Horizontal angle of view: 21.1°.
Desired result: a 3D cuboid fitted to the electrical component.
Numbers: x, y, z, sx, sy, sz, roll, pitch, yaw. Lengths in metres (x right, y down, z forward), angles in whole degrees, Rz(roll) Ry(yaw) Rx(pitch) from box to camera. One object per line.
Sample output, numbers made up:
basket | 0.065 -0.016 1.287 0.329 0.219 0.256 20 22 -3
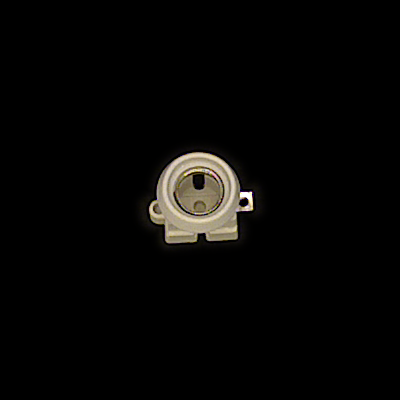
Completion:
electrical component | 0.000 0.000 0.638 0.066 0.048 0.055 -4 -14 -1
